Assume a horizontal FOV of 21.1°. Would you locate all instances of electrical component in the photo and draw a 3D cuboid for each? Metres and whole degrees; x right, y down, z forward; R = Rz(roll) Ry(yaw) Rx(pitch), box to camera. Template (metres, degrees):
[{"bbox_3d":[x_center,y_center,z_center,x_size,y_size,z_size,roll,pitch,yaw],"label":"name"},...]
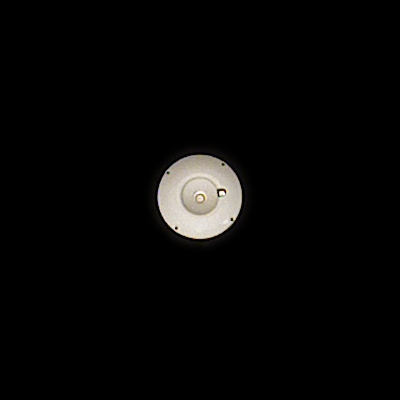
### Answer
[{"bbox_3d":[0.000,0.000,0.634,0.048,0.048,0.062,0,-5,1],"label":"electrical component"}]
